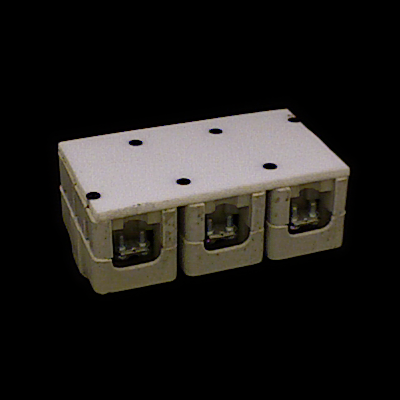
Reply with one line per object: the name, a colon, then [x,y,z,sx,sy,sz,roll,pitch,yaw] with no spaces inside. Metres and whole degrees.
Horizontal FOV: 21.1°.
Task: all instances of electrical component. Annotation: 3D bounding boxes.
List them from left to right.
electrical component: [0.000,0.000,0.637,0.150,0.063,0.087,-10,32,-17]
